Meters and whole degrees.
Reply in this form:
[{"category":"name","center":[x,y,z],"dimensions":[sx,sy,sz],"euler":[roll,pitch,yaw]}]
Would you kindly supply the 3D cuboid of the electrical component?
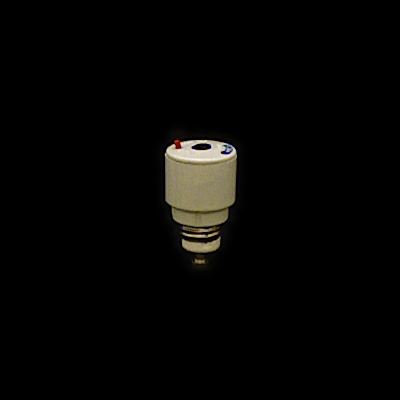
[{"category":"electrical component","center":[0.000,0.000,0.636],"dimensions":[0.040,0.079,0.039],"euler":[1,21,0]}]
